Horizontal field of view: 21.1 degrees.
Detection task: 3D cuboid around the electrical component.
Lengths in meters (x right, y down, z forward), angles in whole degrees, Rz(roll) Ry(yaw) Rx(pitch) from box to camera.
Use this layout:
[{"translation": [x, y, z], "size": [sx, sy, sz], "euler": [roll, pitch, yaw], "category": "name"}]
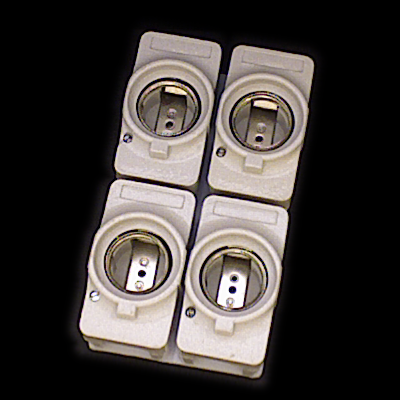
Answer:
[{"translation": [0.000, 0.000, 0.625], "size": [0.105, 0.187, 0.060], "euler": [10, -16, 3], "category": "electrical component"}]
